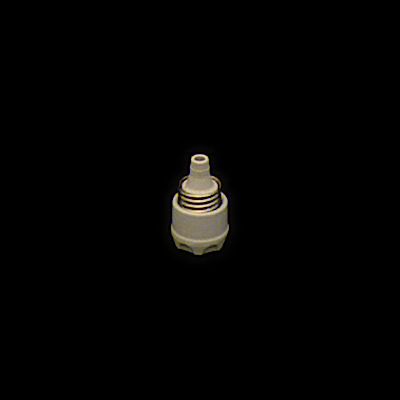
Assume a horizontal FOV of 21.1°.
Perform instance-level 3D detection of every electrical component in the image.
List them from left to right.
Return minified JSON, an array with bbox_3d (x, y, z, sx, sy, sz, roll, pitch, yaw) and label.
[{"bbox_3d":[0.000,0.000,0.647,0.035,0.062,0.034,0,34,0],"label":"electrical component"}]
